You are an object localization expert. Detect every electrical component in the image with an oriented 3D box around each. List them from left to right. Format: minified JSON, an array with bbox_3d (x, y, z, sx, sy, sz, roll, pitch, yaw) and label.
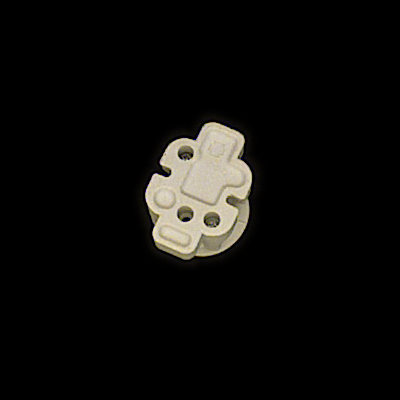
[{"bbox_3d":[0.000,0.000,0.636,0.058,0.079,0.056,22,-16,7],"label":"electrical component"}]
